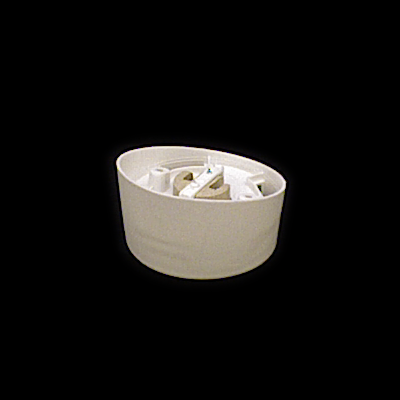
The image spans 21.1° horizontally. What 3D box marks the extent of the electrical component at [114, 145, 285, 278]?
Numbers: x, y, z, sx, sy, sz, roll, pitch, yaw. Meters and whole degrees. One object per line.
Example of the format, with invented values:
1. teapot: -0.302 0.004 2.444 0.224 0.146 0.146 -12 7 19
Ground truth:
1. electrical component: 0.000 0.000 0.632 0.099 0.065 0.097 1 32 0
